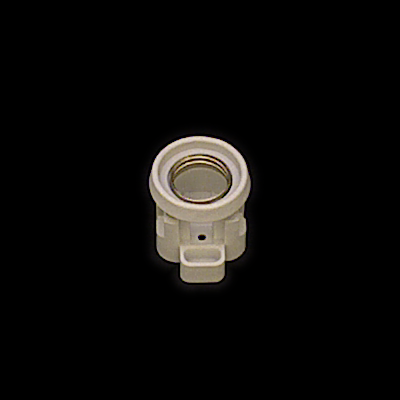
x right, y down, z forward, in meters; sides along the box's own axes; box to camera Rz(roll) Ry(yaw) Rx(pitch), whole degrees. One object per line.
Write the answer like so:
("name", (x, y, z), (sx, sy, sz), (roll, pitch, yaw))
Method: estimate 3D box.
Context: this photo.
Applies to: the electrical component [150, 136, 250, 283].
("electrical component", (0.000, 0.000, 0.630), (0.058, 0.078, 0.057), (-2, -37, -2))
